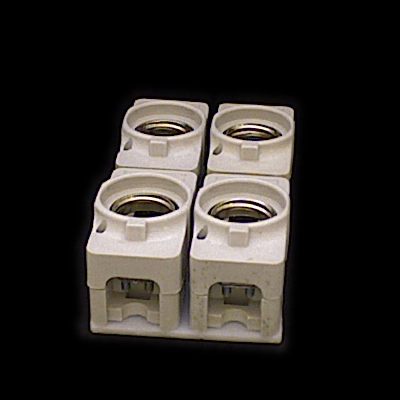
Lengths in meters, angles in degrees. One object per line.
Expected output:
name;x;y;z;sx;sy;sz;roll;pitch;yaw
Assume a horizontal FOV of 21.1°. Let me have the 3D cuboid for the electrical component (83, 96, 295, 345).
electrical component;0.000;0.000;0.633;0.105;0.061;0.184;4;32;4
